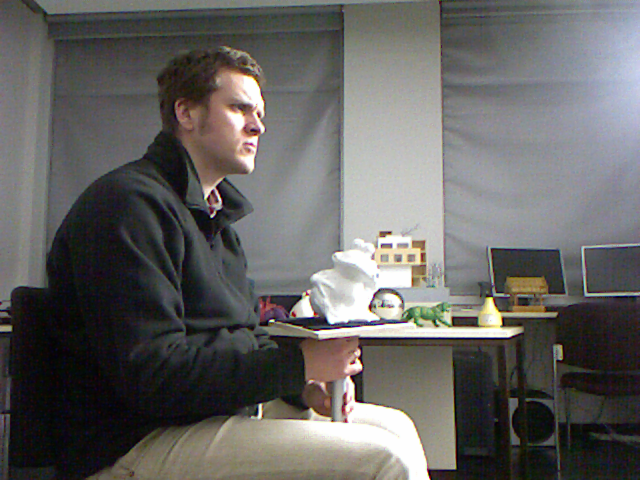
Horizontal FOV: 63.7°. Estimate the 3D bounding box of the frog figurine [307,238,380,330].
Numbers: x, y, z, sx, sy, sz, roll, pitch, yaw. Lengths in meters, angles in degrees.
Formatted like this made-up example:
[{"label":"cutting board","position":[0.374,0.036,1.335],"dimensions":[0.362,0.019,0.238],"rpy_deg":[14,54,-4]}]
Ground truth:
[{"label":"frog figurine","position":[0.045,0.076,0.951],"dimensions":[0.137,0.159,0.123],"rpy_deg":[1,1,-10]}]
